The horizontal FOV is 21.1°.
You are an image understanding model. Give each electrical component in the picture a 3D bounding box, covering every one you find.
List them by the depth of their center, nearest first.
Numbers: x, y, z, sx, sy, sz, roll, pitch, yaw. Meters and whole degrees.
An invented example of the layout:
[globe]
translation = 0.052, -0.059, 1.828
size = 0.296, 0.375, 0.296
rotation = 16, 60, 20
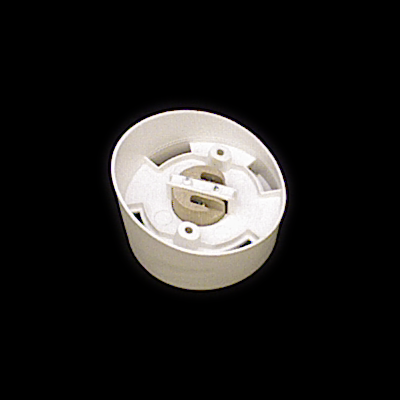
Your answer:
[electrical component]
translation = 0.000, 0.000, 0.625
size = 0.099, 0.098, 0.064
rotation = 0, -37, 1
